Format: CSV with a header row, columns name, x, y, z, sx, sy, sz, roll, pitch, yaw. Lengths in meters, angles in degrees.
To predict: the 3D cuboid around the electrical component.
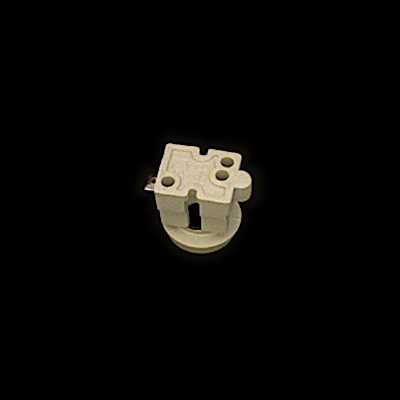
name,x,y,z,sx,sy,sz,roll,pitch,yaw
electrical component,0.000,0.000,0.639,0.066,0.048,0.056,9,-35,8
